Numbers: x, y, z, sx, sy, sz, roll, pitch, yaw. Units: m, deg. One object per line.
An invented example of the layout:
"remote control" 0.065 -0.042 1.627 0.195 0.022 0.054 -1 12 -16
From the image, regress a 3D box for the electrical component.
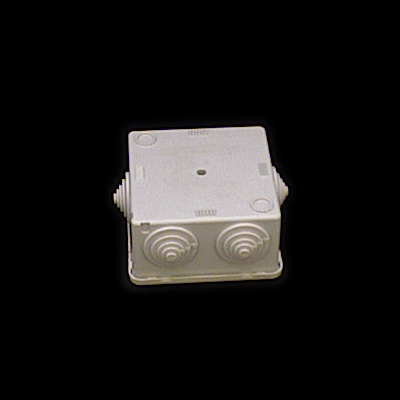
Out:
"electrical component" 0.000 0.000 0.634 0.100 0.049 0.099 -2 42 -3
